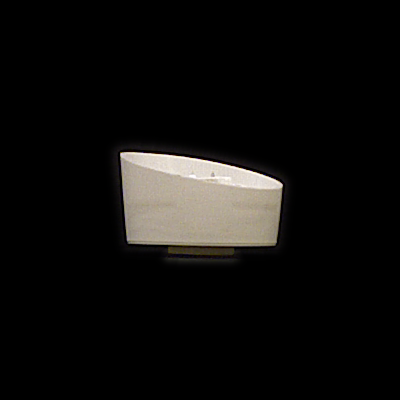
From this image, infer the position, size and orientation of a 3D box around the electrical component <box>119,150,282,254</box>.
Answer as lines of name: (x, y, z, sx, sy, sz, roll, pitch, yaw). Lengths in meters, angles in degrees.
electrical component: (0.000, 0.000, 0.650, 0.099, 0.064, 0.099, 0, 0, 0)
